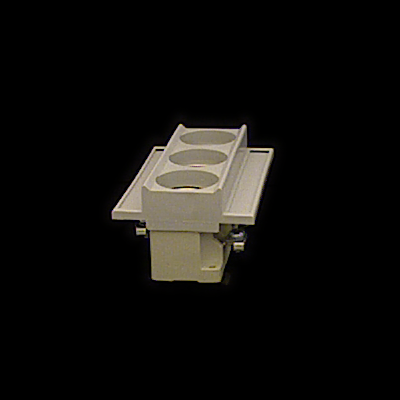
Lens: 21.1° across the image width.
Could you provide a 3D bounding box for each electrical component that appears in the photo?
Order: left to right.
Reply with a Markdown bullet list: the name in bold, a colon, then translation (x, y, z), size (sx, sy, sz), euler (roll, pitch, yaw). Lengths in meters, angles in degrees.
- **electrical component**: translation (0.000, 0.000, 0.650), size (0.078, 0.064, 0.120), euler (3, 21, 8)
